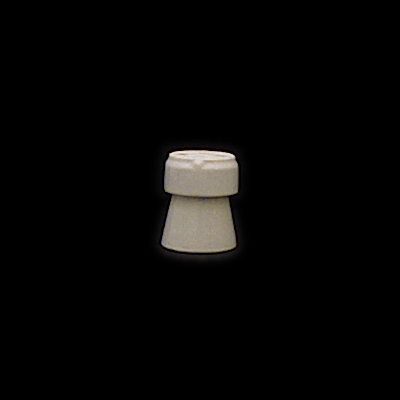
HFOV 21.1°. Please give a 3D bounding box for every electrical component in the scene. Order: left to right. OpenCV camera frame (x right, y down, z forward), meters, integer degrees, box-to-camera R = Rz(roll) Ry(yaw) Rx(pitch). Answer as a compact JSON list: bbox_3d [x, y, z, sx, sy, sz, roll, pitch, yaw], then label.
[{"bbox_3d":[0.000,0.000,0.644,0.045,0.055,0.044,1,12,0],"label":"electrical component"}]
